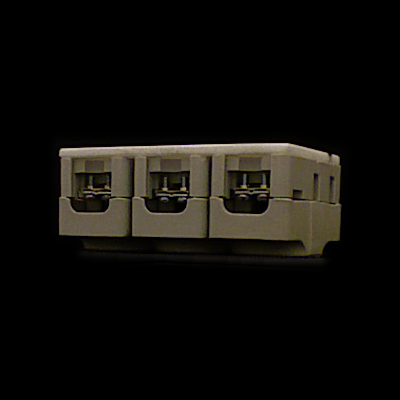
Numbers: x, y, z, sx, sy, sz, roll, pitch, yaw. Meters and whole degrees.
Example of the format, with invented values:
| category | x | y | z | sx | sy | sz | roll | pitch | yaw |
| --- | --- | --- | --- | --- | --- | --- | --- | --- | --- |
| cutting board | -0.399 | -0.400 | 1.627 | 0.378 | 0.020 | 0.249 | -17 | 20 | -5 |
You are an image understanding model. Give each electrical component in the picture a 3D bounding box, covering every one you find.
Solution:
| category | x | y | z | sx | sy | sz | roll | pitch | yaw |
| --- | --- | --- | --- | --- | --- | --- | --- | --- | --- |
| electrical component | 0.000 | 0.000 | 0.658 | 0.150 | 0.062 | 0.089 | 1 | 0 | 26 |
